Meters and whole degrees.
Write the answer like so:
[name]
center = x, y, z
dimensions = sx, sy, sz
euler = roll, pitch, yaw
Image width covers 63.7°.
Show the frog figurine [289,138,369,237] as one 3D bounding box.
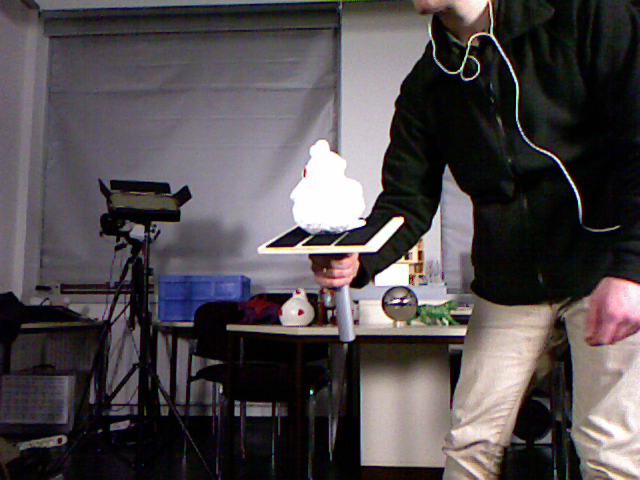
[frog figurine]
center = 0.010, -0.091, 0.882
dimensions = 0.138, 0.158, 0.124
euler = 8, 23, 42
